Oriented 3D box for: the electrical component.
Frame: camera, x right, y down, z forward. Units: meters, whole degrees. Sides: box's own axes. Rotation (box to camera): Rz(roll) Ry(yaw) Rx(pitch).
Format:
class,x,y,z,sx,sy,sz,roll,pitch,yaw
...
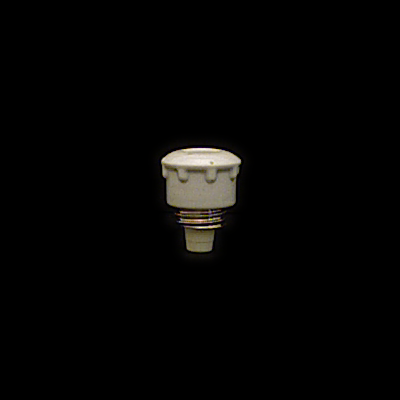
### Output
class,x,y,z,sx,sy,sz,roll,pitch,yaw
electrical component,0.000,0.000,0.650,0.048,0.062,0.048,1,11,0
